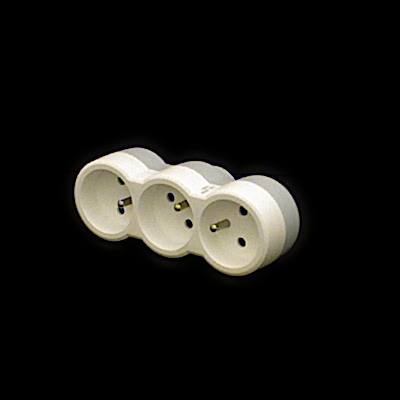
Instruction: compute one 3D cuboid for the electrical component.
[{"bbox_3d":[0.000,0.000,0.649,0.137,0.053,0.073,14,24,30],"label":"electrical component"}]
